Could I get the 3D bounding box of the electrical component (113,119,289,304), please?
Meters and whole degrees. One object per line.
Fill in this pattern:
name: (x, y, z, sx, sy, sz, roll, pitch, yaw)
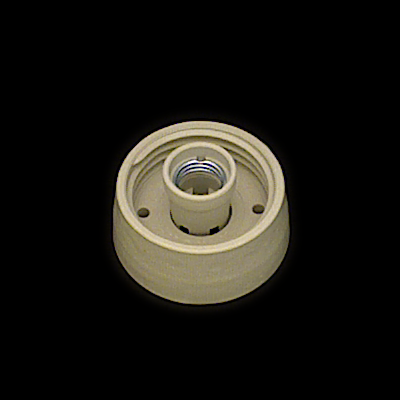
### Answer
electrical component: (0.000, 0.000, 0.636, 0.108, 0.107, 0.060, 0, -37, 0)
